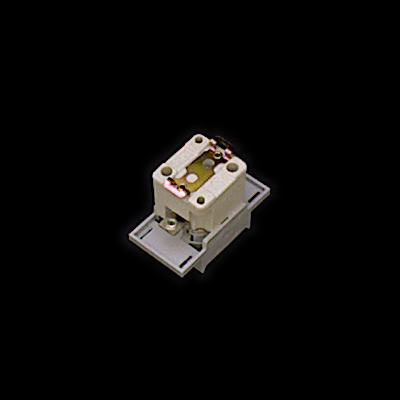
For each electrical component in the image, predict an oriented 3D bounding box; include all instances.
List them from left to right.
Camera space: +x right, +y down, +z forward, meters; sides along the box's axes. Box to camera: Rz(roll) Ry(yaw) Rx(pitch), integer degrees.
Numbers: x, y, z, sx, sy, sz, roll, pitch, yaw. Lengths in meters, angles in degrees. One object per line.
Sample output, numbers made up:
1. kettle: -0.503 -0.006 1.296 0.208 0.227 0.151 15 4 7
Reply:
1. electrical component: 0.000 0.000 0.626 0.042 0.064 0.081 34 59 23
